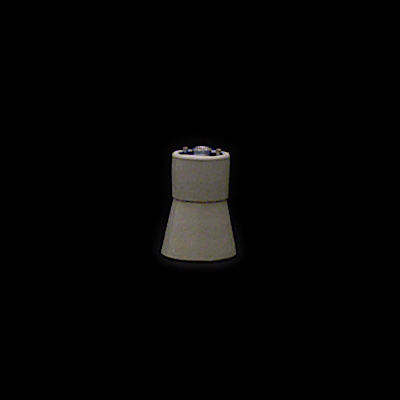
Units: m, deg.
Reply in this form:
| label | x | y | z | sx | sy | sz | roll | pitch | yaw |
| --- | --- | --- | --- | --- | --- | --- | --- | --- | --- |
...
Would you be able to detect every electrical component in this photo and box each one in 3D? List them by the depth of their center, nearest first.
| label | x | y | z | sx | sy | sz | roll | pitch | yaw |
| --- | --- | --- | --- | --- | --- | --- | --- | --- | --- |
| electrical component | 0.000 | 0.000 | 0.642 | 0.044 | 0.066 | 0.044 | 1 | 12 | 0 |
